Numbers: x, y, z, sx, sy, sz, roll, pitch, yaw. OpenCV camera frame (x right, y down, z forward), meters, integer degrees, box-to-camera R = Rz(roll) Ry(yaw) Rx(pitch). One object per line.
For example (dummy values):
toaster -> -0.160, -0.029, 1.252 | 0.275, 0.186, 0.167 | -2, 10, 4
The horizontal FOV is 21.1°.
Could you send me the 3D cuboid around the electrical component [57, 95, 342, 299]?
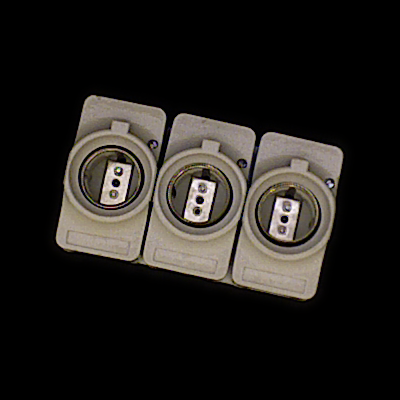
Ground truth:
electrical component -> 0.000, 0.000, 0.632 | 0.150, 0.089, 0.061 | 12, -7, 1
